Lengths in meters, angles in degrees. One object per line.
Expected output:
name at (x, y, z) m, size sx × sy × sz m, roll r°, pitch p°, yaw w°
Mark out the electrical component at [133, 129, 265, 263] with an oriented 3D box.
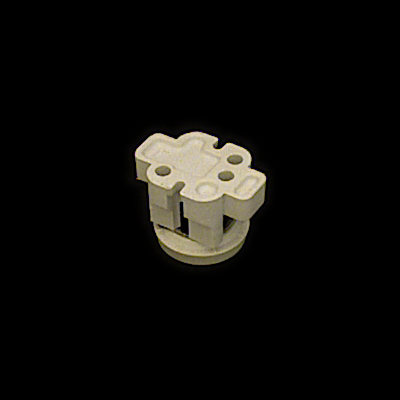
electrical component at (0.000, 0.000, 0.639) m, size 0.078 × 0.057 × 0.058 m, roll 21°, pitch 47°, yaw 23°
